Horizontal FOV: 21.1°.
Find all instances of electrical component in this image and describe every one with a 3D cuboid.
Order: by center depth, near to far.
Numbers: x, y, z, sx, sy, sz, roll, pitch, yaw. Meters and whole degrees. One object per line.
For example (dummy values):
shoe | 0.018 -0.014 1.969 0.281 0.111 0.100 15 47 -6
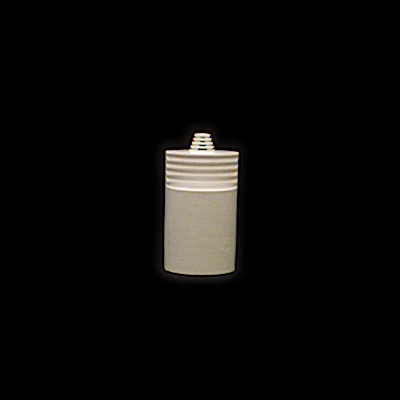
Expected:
electrical component | 0.000 0.000 0.642 0.043 0.081 0.043 1 11 0
